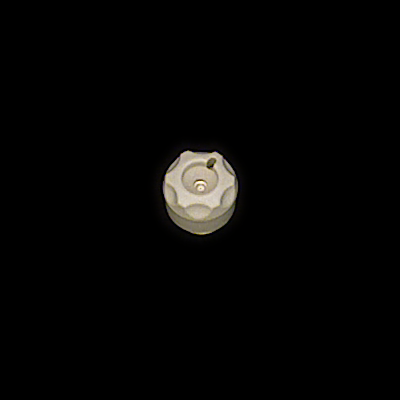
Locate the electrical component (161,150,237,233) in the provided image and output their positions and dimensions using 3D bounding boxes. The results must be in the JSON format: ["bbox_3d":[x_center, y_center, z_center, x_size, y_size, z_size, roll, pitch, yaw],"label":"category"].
[{"bbox_3d":[0.000,0.000,0.633,0.043,0.043,0.062,0,-26,1],"label":"electrical component"}]
